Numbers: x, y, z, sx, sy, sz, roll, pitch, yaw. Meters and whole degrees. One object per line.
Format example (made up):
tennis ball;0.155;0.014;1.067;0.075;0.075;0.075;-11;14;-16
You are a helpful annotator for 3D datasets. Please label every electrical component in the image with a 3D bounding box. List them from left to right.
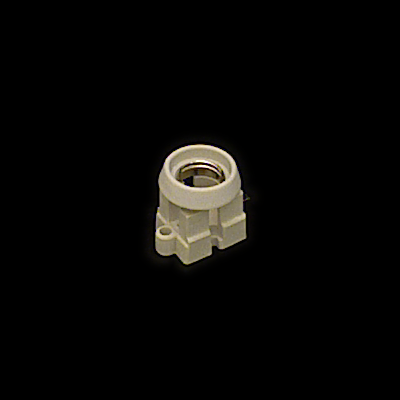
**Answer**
electrical component;0.000;0.000;0.641;0.067;0.056;0.048;-24;50;-25
